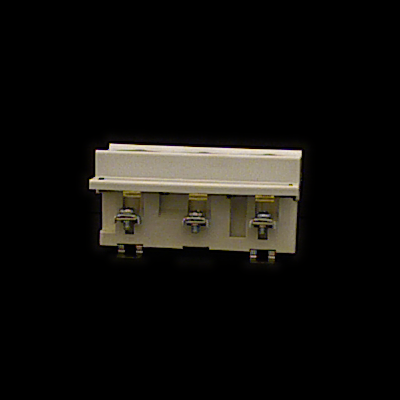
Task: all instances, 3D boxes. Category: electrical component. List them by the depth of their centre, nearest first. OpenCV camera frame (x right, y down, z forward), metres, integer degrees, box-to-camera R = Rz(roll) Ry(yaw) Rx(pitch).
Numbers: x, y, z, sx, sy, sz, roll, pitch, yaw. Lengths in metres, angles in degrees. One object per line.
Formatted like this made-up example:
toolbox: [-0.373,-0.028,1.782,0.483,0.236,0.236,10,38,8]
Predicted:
electrical component: [0.000,0.000,0.658,0.121,0.063,0.078,2,10,6]
